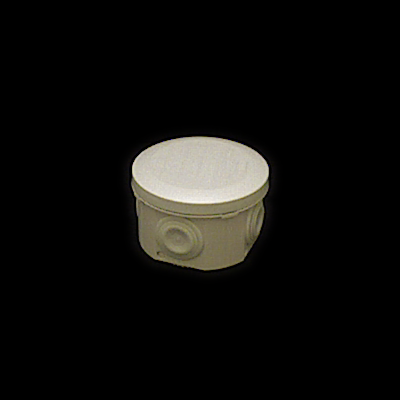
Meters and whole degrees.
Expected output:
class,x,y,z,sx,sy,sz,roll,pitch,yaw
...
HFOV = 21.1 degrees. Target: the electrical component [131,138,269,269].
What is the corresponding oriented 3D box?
class,x,y,z,sx,sy,sz,roll,pitch,yaw
electrical component,0.000,0.000,0.634,0.080,0.051,0.079,1,31,0
